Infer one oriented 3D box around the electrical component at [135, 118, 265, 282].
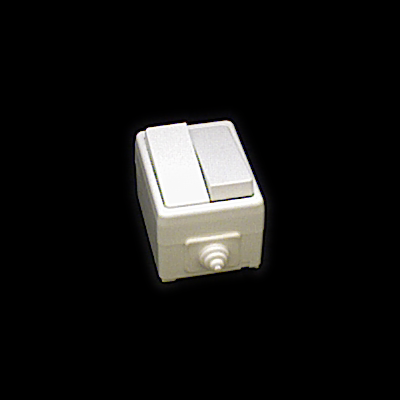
[{"bbox_3d":[0.000,0.000,0.629,0.062,0.061,0.095,-8,42,-9],"label":"electrical component"}]
